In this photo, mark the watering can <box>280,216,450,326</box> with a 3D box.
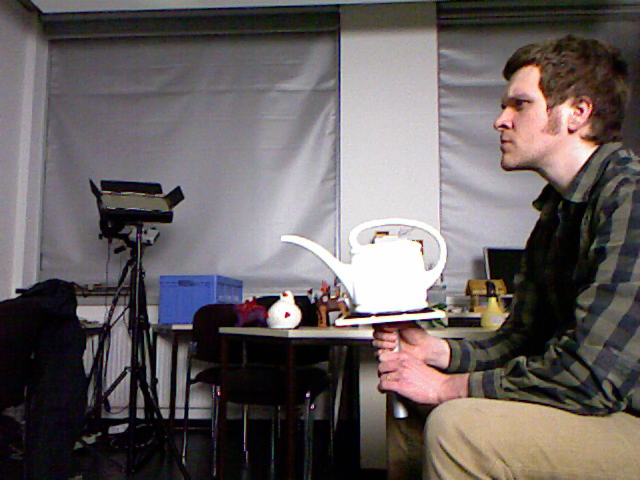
[{"bbox_3d":[0.097,0.067,1.067,0.348,0.225,0.104,-5,-3,4],"label":"watering can"}]
